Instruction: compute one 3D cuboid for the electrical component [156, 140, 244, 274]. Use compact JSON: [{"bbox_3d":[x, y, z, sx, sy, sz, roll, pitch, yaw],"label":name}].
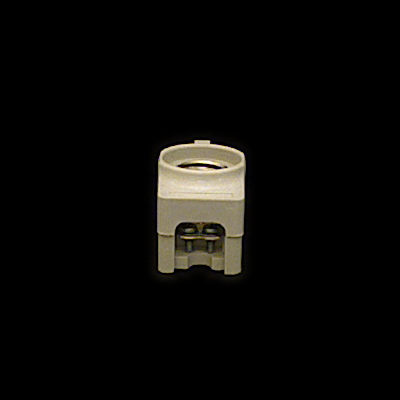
[{"bbox_3d":[0.000,0.000,0.647,0.050,0.056,0.088,1,22,0],"label":"electrical component"}]
